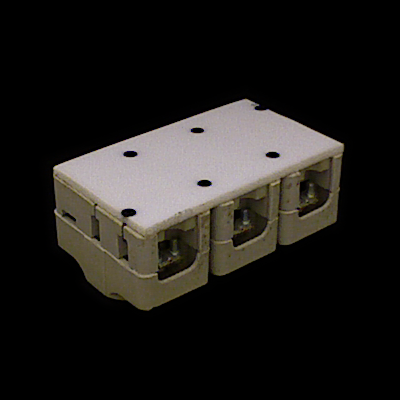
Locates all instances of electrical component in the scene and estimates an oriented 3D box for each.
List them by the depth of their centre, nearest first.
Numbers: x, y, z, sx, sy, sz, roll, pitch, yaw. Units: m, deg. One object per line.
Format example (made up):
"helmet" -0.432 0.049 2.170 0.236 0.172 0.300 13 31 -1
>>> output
"electrical component" 0.000 0.000 0.637 0.149 0.063 0.088 -23 38 -33
